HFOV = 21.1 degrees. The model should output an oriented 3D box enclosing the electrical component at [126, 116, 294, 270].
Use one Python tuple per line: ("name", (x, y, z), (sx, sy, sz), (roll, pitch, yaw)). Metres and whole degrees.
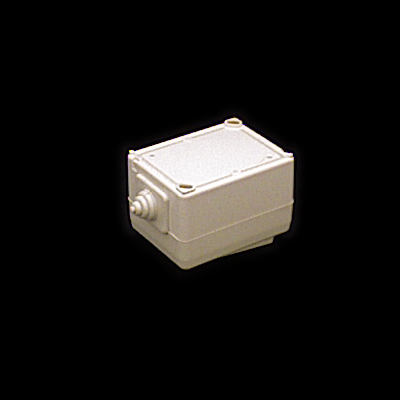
("electrical component", (0.000, 0.000, 0.636), (0.096, 0.061, 0.061), (-20, 37, -29))
